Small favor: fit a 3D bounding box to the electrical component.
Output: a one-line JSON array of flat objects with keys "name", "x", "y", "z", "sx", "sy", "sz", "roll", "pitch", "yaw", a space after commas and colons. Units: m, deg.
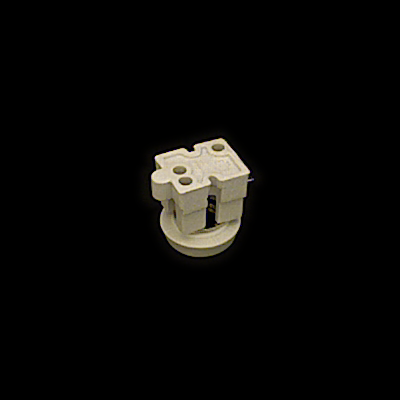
[{"name": "electrical component", "x": 0.000, "y": 0.000, "z": 0.639, "sx": 0.067, "sy": 0.056, "sz": 0.048, "roll": -17, "pitch": 44, "yaw": -20}]
